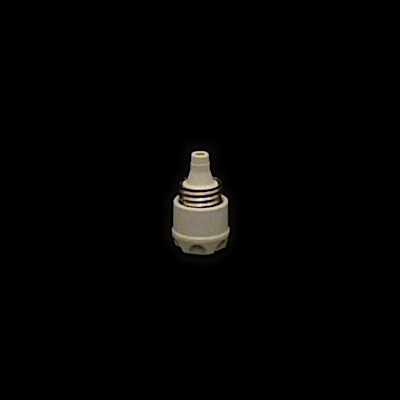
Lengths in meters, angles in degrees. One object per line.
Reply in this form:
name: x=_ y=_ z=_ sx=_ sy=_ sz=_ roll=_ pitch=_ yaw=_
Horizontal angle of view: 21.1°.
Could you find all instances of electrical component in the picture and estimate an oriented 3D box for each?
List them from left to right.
electrical component: x=0.000 y=0.000 z=0.649 sx=0.035 sy=0.062 sz=0.034 roll=0 pitch=21 yaw=0
